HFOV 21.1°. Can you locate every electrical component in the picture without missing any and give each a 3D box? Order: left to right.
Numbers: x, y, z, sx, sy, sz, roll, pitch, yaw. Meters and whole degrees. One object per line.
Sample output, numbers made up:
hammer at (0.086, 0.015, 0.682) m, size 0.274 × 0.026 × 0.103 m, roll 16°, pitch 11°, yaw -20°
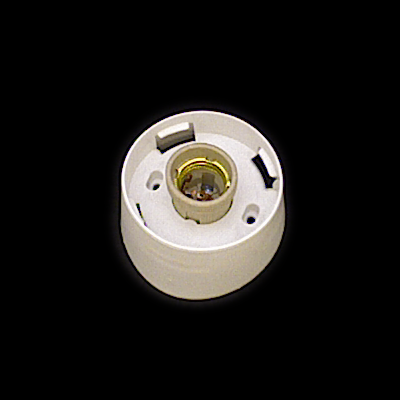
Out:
electrical component at (0.000, 0.000, 0.626) m, size 0.099 × 0.099 × 0.064 m, roll 0°, pitch -27°, yaw 0°
